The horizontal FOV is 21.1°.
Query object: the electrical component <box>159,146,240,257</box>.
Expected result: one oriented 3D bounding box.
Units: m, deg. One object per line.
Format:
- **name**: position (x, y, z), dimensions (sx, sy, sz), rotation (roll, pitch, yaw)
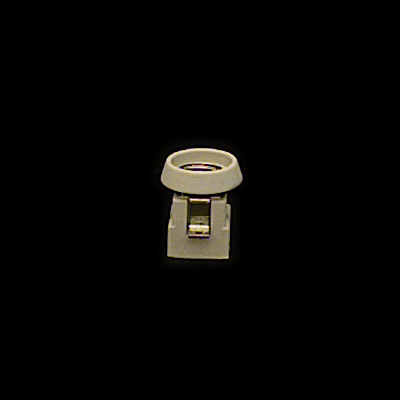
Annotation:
- **electrical component**: position (0.000, 0.000, 0.646), dimensions (0.048, 0.056, 0.065), rotation (-1, 22, 1)
